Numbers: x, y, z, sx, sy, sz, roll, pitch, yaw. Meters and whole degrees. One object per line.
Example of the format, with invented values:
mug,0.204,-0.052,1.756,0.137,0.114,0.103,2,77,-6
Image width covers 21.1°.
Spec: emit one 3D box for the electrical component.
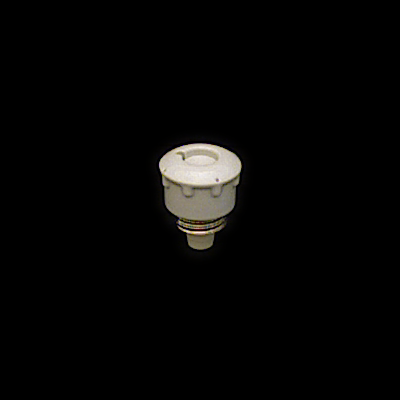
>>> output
electrical component,0.000,0.000,0.639,0.048,0.063,0.047,1,32,0
